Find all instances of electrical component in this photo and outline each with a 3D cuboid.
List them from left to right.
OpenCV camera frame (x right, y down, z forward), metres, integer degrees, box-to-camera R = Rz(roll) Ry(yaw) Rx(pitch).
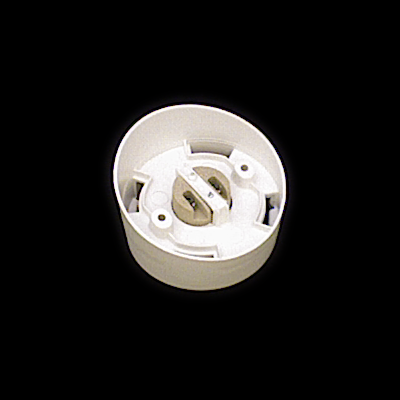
[{"bbox_3d":[0.000,0.000,0.626,0.099,0.098,0.064,0,-38,1],"label":"electrical component"}]
